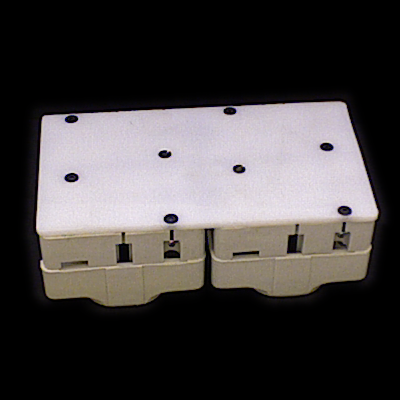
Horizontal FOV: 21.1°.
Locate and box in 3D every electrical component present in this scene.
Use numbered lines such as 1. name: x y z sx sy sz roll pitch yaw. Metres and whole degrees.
1. electrical component: 0.000 0.000 0.630 0.186 0.061 0.104 -3 42 -4
